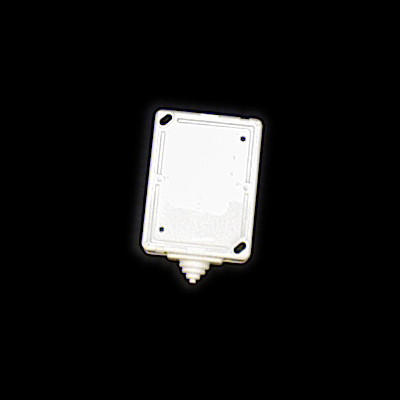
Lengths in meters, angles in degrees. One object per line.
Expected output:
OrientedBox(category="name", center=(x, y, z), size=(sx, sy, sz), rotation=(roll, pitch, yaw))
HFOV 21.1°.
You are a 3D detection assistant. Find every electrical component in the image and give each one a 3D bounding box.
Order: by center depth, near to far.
OrientedBox(category="electrical component", center=(0.000, 0.000, 0.625), size=(0.062, 0.097, 0.060), rotation=(6, -7, 1))
